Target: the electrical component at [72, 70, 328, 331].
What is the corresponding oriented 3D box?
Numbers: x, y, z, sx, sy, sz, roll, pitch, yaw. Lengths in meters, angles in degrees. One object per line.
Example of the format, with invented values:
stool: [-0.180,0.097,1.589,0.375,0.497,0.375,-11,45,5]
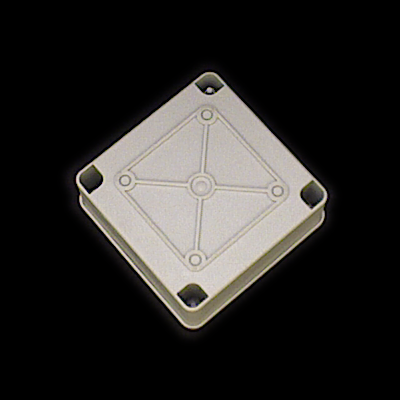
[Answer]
electrical component: [0.000,0.000,0.628,0.109,0.108,0.056,-39,-14,-12]
